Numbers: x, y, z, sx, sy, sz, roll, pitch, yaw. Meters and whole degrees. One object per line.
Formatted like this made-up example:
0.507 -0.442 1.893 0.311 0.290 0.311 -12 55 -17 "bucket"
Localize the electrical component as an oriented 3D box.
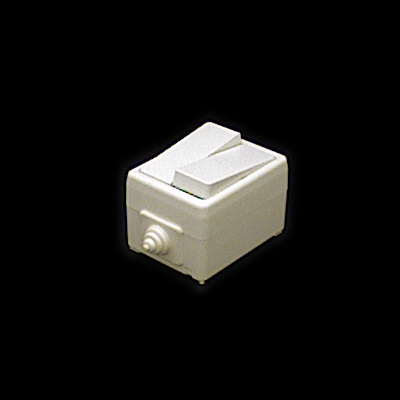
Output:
0.000 0.000 0.632 0.061 0.061 0.096 25 38 34 "electrical component"
